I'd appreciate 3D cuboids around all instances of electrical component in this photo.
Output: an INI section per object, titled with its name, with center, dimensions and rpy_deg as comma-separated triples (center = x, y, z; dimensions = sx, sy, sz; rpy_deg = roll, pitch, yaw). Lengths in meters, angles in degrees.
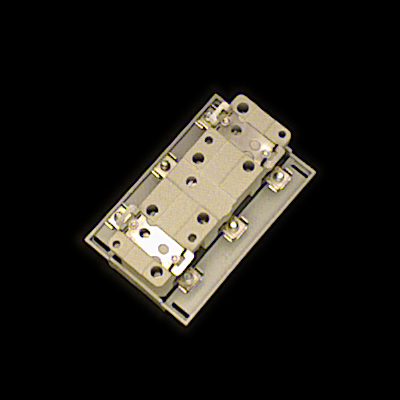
[electrical component]
center = 0.000, 0.000, 0.633
dimensions = 0.078, 0.122, 0.062
rpy_deg = 39, -12, 10
